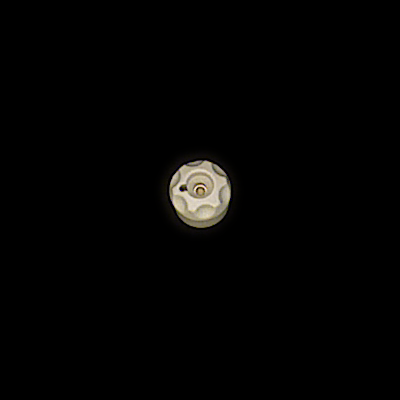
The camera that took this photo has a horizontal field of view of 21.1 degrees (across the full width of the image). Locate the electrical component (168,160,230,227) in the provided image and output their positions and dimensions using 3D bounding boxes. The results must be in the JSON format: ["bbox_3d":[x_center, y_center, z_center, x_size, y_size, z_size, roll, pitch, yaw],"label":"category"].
[{"bbox_3d":[0.000,0.000,0.634,0.035,0.035,0.061,0,-16,1],"label":"electrical component"}]
